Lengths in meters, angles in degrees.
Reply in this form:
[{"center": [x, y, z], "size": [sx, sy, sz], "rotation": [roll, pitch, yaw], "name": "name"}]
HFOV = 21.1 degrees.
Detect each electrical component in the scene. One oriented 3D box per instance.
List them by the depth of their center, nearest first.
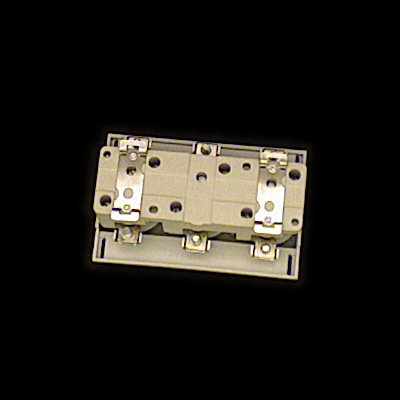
[{"center": [0.000, 0.000, 0.633], "size": [0.121, 0.079, 0.062], "rotation": [5, -15, 2], "name": "electrical component"}]
